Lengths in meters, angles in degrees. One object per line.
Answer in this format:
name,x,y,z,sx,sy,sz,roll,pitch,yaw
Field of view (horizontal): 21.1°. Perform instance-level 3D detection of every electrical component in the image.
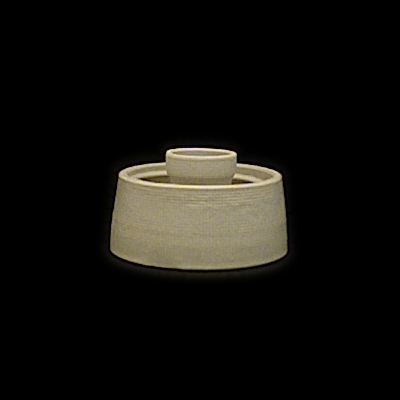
electrical component,0.000,0.000,0.649,0.108,0.061,0.107,2,11,0
